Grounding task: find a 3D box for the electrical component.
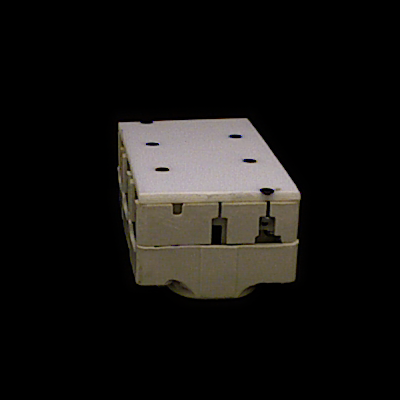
[{"bbox_3d":[0.000,0.000,0.647,0.090,0.063,0.147,-2,20,-8],"label":"electrical component"}]
